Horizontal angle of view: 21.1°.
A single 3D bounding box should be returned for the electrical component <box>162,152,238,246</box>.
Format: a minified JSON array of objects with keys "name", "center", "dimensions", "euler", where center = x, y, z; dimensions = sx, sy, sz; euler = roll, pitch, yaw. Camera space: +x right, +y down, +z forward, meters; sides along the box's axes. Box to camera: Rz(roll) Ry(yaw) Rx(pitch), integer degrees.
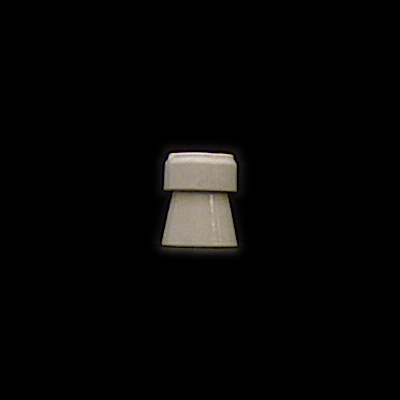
[{"name":"electrical component","center":[0.000,0.000,0.651],"dimensions":[0.045,0.055,0.045],"euler":[2,1,0]}]
